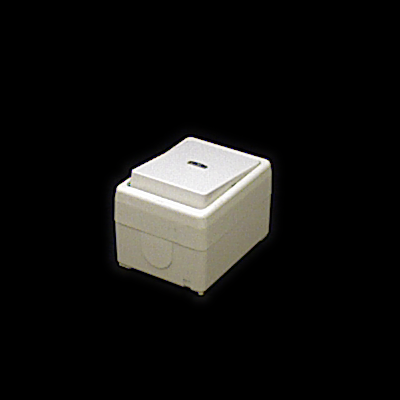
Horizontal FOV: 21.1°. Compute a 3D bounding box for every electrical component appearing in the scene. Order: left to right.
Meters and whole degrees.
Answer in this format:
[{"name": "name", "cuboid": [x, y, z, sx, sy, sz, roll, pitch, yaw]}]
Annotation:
[{"name": "electrical component", "cuboid": [0.000, 0.000, 0.636, 0.061, 0.061, 0.095, 19, 35, 27]}]
